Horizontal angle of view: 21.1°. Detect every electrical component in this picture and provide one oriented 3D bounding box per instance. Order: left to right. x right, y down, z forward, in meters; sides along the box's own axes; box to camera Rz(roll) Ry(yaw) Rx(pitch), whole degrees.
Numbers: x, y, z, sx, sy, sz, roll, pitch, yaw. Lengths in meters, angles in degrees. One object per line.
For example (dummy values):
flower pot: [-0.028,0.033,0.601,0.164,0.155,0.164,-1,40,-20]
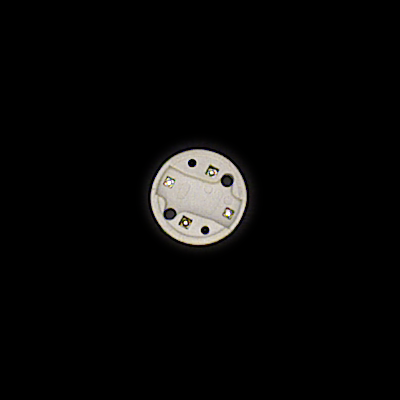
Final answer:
electrical component: [0.000,0.000,0.636,0.055,0.055,0.047,0,-7,0]
